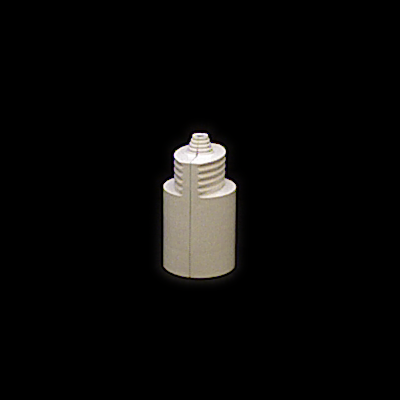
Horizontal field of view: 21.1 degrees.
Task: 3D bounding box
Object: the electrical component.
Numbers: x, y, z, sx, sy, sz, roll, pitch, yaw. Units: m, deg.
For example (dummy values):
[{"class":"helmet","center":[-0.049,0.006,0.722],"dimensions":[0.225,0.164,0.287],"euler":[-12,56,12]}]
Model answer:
[{"class":"electrical component","center":[0.000,0.000,0.636],"dimensions":[0.043,0.082,0.042],"euler":[1,21,0]}]
